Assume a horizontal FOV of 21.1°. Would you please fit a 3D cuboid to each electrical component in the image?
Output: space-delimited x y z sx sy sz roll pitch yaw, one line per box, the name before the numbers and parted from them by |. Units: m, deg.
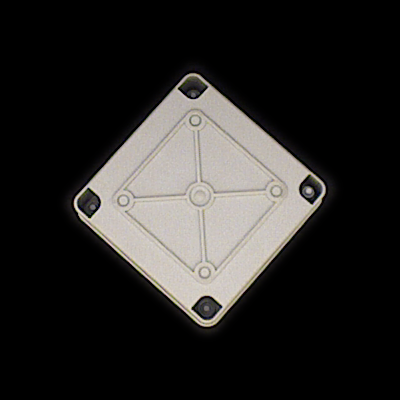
electrical component | 0.000 0.000 0.629 0.109 0.109 0.056 41 -5 4
